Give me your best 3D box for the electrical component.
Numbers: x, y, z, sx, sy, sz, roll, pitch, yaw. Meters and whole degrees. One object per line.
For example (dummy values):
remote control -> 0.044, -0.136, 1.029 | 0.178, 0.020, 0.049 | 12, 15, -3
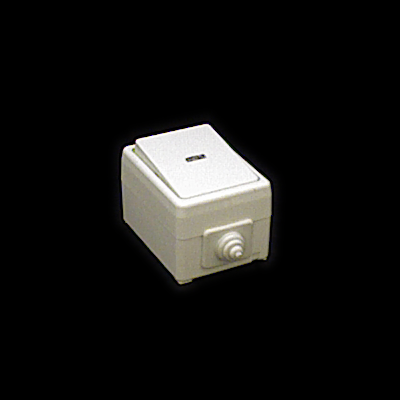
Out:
electrical component -> 0.000, 0.000, 0.632 | 0.061, 0.061, 0.095 | -15, 35, -24
